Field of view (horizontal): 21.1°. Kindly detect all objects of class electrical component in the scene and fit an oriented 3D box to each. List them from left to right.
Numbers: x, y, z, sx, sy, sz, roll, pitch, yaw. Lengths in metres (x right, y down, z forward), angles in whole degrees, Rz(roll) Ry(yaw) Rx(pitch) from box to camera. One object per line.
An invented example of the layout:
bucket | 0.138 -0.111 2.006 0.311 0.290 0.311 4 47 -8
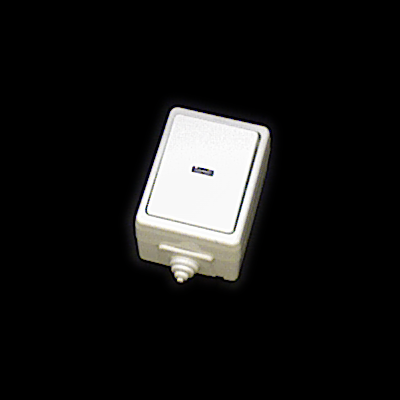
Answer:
electrical component | 0.000 0.000 0.625 0.061 0.097 0.060 13 -26 7
